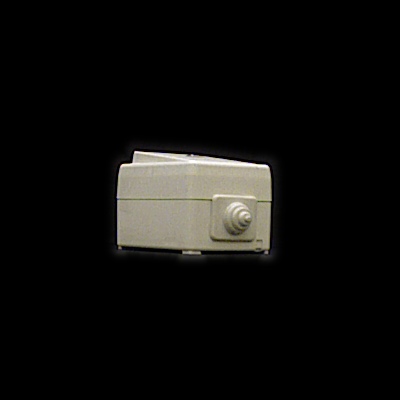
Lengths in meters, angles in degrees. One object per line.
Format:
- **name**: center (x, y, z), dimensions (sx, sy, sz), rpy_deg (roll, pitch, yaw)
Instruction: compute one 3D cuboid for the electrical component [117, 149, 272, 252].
- **electrical component**: center (0.000, 0.000, 0.647), dimensions (0.062, 0.061, 0.096), rpy_deg (1, 0, -36)
